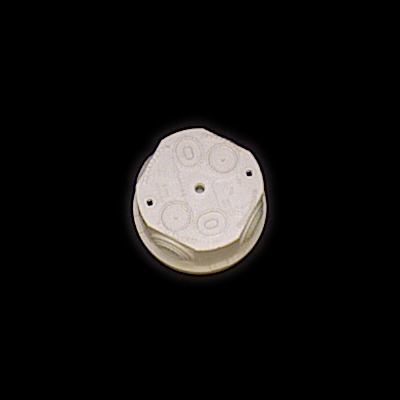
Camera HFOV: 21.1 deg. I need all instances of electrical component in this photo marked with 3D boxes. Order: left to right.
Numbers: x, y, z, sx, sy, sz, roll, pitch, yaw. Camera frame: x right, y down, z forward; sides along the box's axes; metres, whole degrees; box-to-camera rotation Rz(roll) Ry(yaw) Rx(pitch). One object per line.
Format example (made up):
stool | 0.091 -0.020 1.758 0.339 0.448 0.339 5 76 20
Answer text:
electrical component | 0.000 0.000 0.632 0.080 0.080 0.050 0 -17 -1
